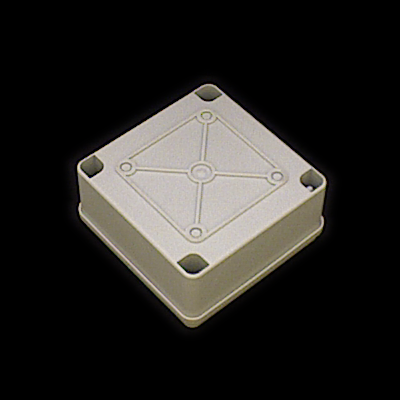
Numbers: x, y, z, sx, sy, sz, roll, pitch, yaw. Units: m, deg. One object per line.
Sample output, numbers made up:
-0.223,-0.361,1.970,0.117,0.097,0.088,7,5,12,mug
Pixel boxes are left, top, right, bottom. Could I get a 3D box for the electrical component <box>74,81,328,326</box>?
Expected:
0.000,0.000,0.630,0.108,0.108,0.056,-34,-29,-24,electrical component
